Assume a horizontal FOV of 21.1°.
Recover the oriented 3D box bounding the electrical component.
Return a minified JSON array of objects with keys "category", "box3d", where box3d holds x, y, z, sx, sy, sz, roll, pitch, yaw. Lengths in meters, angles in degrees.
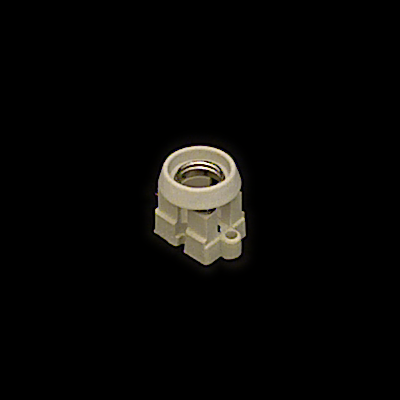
[{"category":"electrical component","box3d":[0.000,0.000,0.640,0.065,0.056,0.048,30,48,28]}]
